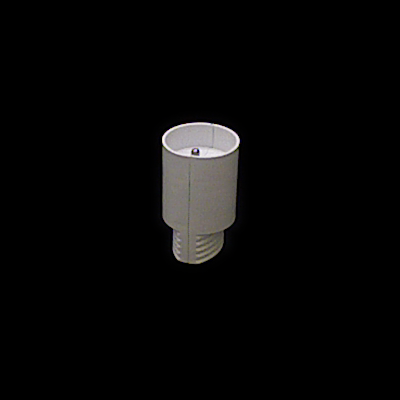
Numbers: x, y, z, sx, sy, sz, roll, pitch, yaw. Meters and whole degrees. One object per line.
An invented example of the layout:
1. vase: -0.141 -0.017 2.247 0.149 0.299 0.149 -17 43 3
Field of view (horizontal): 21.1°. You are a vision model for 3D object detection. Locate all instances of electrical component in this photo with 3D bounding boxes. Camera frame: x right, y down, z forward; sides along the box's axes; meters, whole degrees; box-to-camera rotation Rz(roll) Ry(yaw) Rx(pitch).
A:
1. electrical component: 0.000 0.000 0.626 0.043 0.082 0.042 0 32 0
